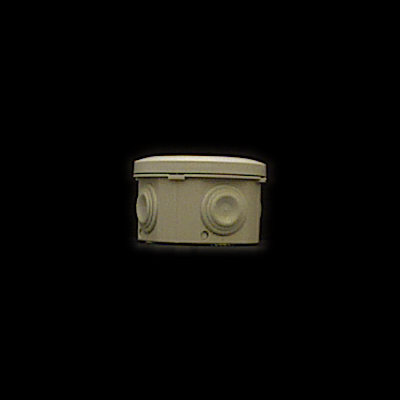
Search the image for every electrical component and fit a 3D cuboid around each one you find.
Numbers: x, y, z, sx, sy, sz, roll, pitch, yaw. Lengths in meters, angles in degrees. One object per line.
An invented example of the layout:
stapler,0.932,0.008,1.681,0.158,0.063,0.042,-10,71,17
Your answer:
electrical component,0.000,0.000,0.648,0.080,0.051,0.080,1,0,0
